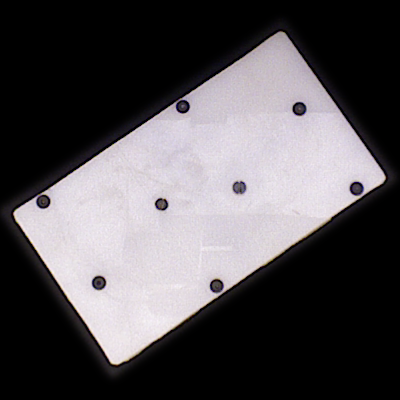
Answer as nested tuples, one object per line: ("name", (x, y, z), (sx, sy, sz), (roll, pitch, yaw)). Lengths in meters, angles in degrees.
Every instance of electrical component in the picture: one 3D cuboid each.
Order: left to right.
("electrical component", (0.000, 0.000, 0.626), (0.186, 0.105, 0.060), (-34, -5, -4))
